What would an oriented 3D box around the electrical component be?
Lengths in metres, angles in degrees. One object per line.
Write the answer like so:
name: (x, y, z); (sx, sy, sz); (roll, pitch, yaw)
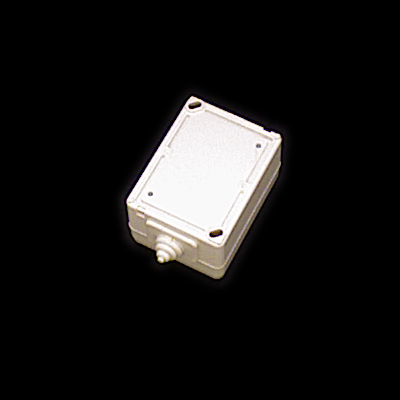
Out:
electrical component: (0.000, 0.000, 0.627); (0.061, 0.096, 0.061); (25, -24, 12)
